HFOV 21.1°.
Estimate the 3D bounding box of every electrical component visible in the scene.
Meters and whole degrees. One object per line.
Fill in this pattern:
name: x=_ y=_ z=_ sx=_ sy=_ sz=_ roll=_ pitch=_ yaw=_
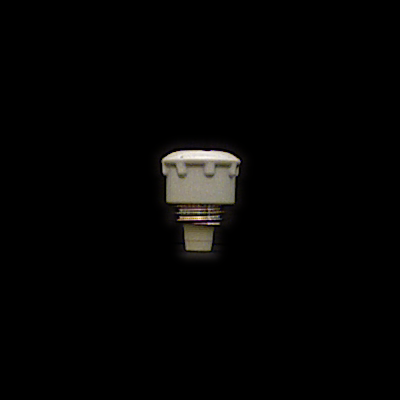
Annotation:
electrical component: x=0.000 y=0.000 z=0.657 sx=0.048 sy=0.062 sz=0.048 roll=1 pitch=2 yaw=0
